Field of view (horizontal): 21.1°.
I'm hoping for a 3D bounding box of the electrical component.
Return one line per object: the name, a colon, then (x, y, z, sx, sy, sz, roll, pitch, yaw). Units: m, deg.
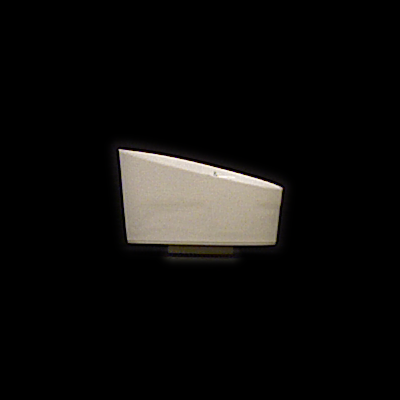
electrical component: (0.000, 0.000, 0.649, 0.099, 0.064, 0.099, 0, 0, 0)
